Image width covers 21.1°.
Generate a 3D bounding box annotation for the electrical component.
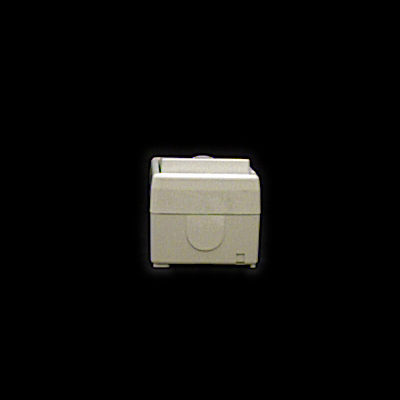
[{"bbox_3d":[0.000,0.000,0.647,0.062,0.061,0.095,1,10,-4],"label":"electrical component"}]
